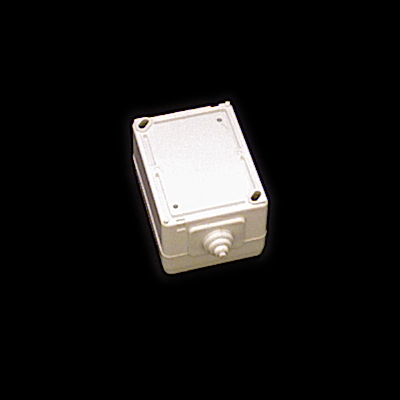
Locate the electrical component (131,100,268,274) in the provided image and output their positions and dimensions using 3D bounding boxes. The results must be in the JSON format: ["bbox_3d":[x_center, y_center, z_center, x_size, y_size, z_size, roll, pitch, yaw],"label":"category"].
[{"bbox_3d":[0.000,0.000,0.628,0.062,0.096,0.061,-12,-36,-9],"label":"electrical component"}]
